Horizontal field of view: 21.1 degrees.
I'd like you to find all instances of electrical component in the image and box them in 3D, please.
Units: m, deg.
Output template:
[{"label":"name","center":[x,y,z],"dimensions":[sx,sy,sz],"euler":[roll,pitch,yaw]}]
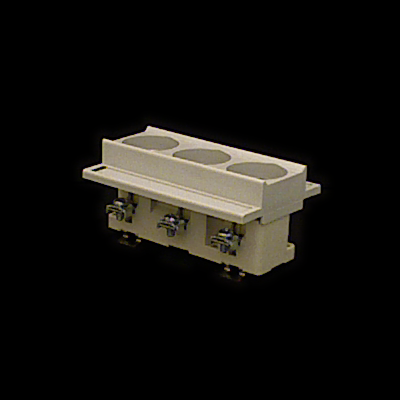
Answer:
[{"label":"electrical component","center":[0.000,0.000,0.653],"dimensions":[0.120,0.064,0.078],"euler":[17,25,35]}]
